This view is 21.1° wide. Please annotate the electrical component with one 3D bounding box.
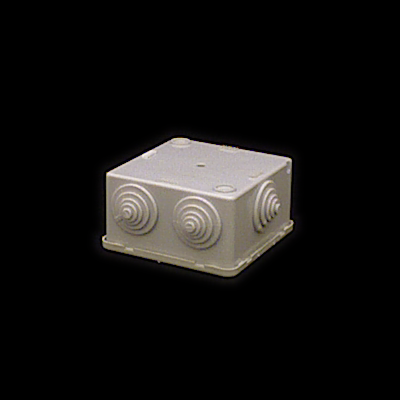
[{"bbox_3d":[0.000,0.000,0.641,0.099,0.049,0.099,12,23,26],"label":"electrical component"}]
